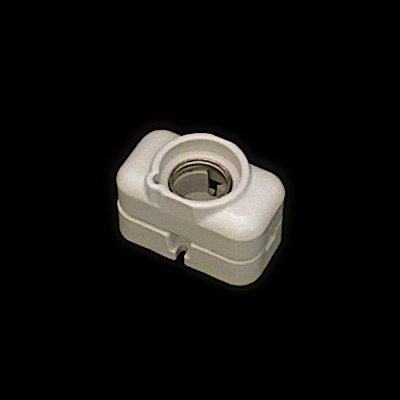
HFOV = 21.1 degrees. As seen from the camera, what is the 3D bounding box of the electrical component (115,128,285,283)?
[{"bbox_3d":[0.000,0.000,0.634,0.094,0.054,0.059,22,-34,16],"label":"electrical component"}]
